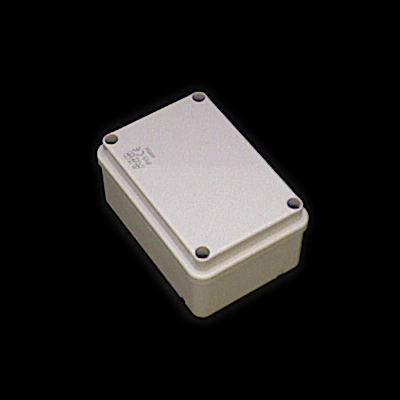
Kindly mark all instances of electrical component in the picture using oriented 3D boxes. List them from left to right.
[{"bbox_3d":[0.000,0.000,0.627,0.078,0.112,0.057,-28,-32,-20],"label":"electrical component"}]
